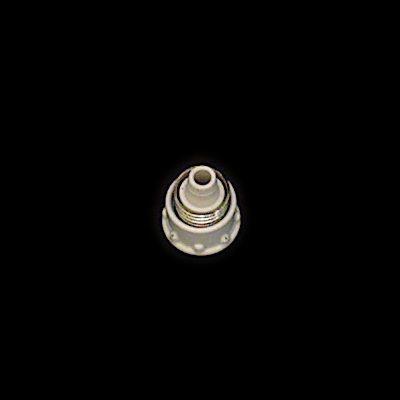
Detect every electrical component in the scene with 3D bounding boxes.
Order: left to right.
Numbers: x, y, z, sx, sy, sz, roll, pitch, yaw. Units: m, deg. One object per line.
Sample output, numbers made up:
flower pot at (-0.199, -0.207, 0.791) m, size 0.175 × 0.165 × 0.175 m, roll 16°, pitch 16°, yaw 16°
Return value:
electrical component at (0.000, 0.000, 0.634) m, size 0.048 × 0.048 × 0.062 m, roll 0°, pitch -26°, yaw -1°
